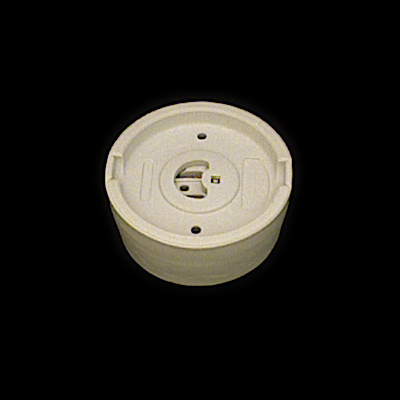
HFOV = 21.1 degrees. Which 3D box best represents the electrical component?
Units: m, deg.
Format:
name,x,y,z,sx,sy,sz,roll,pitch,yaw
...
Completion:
name,x,y,z,sx,sy,sz,roll,pitch,yaw
electrical component,0.000,0.000,0.637,0.108,0.107,0.061,0,-37,0
